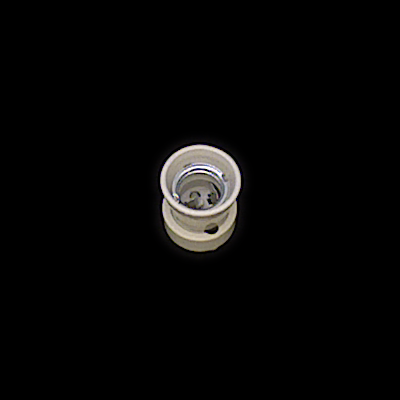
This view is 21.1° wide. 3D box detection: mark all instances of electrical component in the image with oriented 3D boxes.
[{"bbox_3d":[0.000,0.000,0.629,0.045,0.045,0.055,0,-27,-1],"label":"electrical component"}]
